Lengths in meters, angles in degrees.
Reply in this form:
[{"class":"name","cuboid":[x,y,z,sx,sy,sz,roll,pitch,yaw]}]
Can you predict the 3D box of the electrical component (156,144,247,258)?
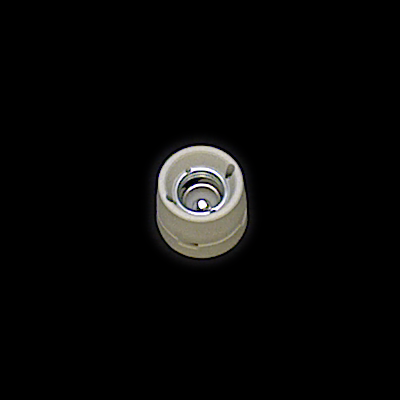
[{"class":"electrical component","cuboid":[0.000,0.000,0.632,0.055,0.056,0.047,0,-27,1]}]
